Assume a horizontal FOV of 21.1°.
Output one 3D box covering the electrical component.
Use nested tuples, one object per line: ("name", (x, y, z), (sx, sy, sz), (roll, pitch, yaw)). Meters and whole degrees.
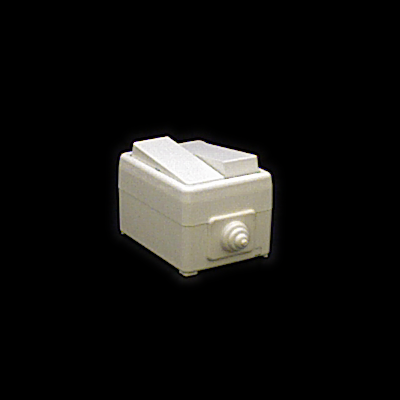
("electrical component", (0.000, 0.000, 0.637), (0.061, 0.061, 0.095), (-12, 24, -30))
